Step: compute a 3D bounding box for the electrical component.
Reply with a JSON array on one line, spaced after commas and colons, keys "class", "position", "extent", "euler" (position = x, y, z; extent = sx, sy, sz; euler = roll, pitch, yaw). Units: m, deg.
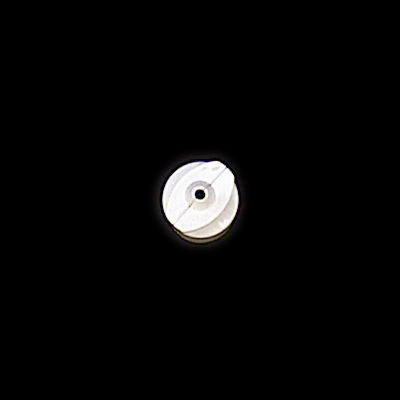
[{"class": "electrical component", "position": [0.000, 0.000, 0.616], "extent": [0.043, 0.043, 0.080], "euler": [0, -6, 1]}]
